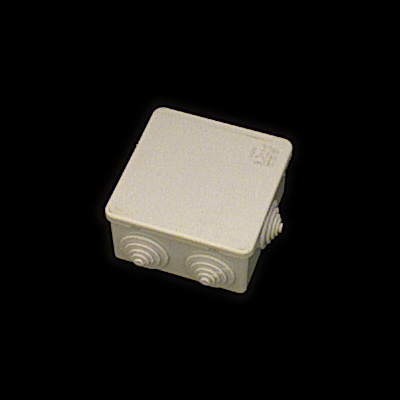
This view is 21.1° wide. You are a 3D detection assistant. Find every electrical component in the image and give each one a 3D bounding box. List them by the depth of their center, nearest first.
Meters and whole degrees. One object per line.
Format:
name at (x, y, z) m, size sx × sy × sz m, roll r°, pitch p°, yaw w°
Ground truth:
electrical component at (0.000, 0.000, 0.641) m, size 0.099 × 0.100 × 0.049 m, roll 16°, pitch -36°, yaw 11°
